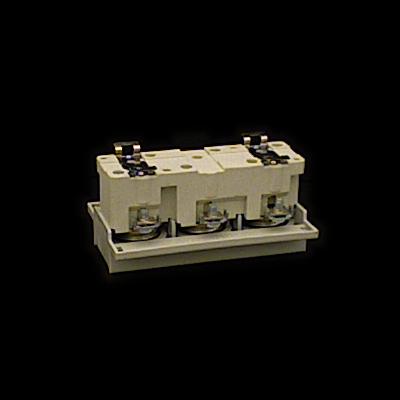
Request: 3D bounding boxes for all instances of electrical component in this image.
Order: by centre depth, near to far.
[{"bbox_3d":[0.000,0.000,0.643,0.122,0.064,0.077,-6,23,-17],"label":"electrical component"}]
